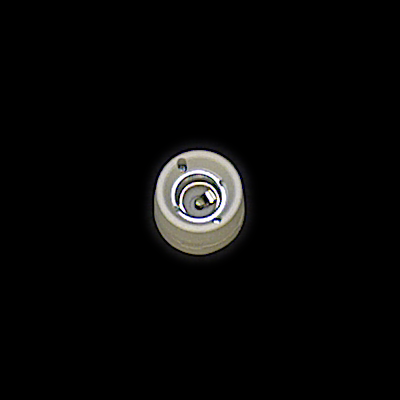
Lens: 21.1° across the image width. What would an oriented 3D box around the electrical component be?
[{"bbox_3d":[0.000,0.000,0.632,0.055,0.056,0.047,0,-16,0],"label":"electrical component"}]
